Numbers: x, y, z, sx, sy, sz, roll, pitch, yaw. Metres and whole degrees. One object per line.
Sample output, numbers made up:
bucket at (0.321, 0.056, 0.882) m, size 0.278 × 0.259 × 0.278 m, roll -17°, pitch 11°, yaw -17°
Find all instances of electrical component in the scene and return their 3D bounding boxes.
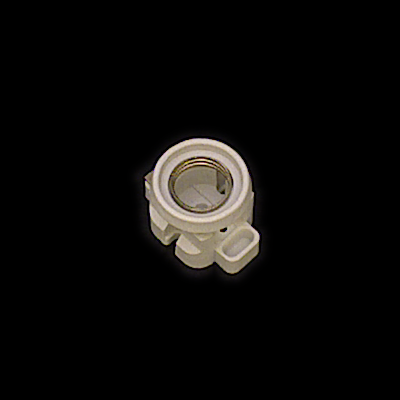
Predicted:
electrical component at (0.000, 0.000, 0.628) m, size 0.058 × 0.078 × 0.057 m, roll -41°, pitch -20°, yaw -19°
